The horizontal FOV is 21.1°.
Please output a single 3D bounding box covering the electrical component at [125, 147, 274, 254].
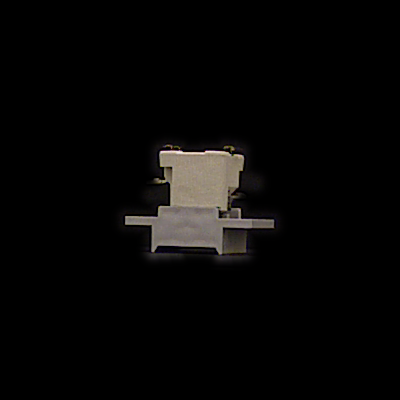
[{"bbox_3d":[0.000,0.000,0.650,0.081,0.064,0.042,1,1,21],"label":"electrical component"}]
